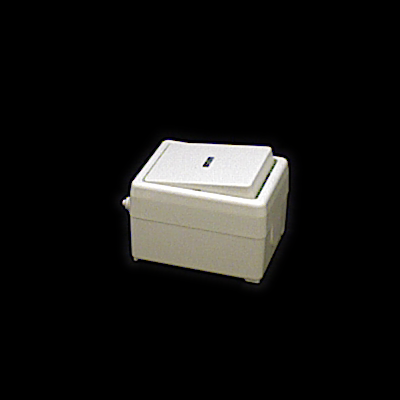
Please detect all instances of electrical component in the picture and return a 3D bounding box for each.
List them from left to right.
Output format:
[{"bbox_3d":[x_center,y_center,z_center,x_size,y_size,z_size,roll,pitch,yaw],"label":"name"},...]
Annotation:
[{"bbox_3d":[0.000,0.000,0.635,0.096,0.061,0.061,10,32,14],"label":"electrical component"}]
